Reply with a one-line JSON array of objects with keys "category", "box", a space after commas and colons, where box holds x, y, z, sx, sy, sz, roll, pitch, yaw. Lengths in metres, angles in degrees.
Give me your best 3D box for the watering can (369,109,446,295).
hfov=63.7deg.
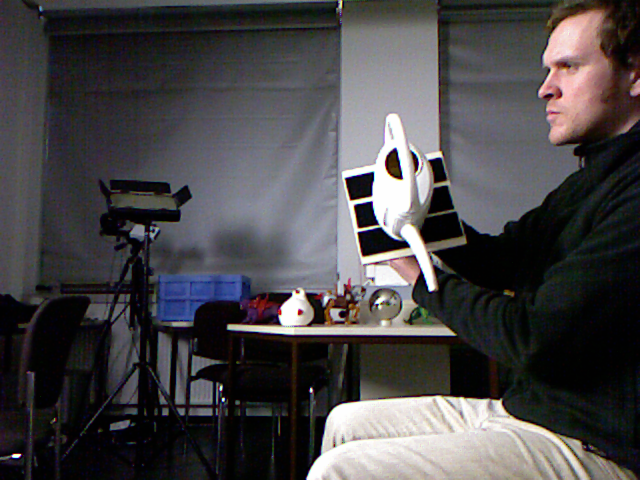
[{"category": "watering can", "box": [0.153, -0.059, 0.922, 0.104, 0.354, 0.222, -9, -17, 0]}]
